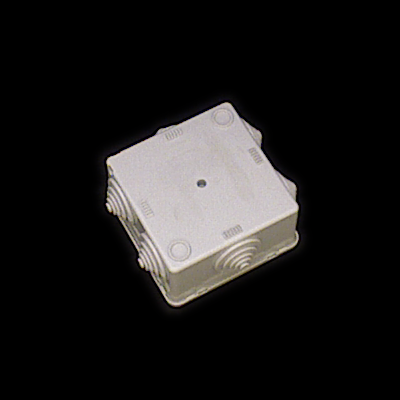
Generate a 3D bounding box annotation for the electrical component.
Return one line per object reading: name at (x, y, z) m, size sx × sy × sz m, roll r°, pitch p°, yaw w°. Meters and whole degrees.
electrical component at (0.000, 0.000, 0.632) m, size 0.100 × 0.099 × 0.048 m, roll -26°, pitch -24°, yaw -13°
